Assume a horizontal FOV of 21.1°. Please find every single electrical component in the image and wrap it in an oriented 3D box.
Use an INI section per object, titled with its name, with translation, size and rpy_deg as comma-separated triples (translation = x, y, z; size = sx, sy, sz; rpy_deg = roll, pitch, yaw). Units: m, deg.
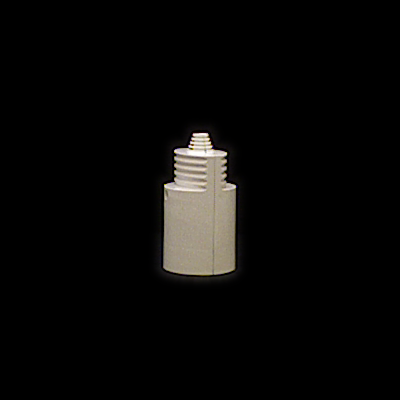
[electrical component]
translation = 0.000, 0.000, 0.643
size = 0.043, 0.081, 0.043
rpy_deg = 1, 11, 0
